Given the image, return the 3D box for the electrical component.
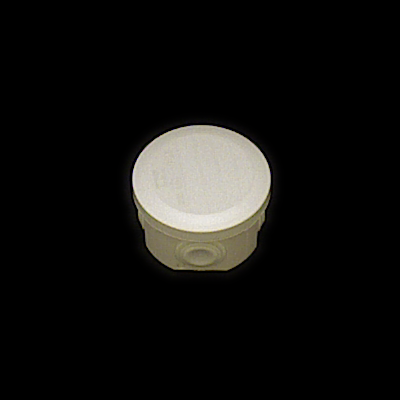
[{"bbox_3d":[0.000,0.000,0.633,0.080,0.080,0.051,0,-38,0],"label":"electrical component"}]
